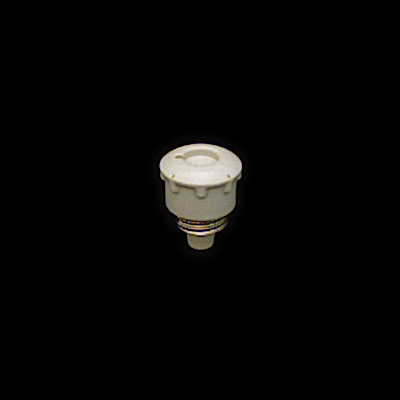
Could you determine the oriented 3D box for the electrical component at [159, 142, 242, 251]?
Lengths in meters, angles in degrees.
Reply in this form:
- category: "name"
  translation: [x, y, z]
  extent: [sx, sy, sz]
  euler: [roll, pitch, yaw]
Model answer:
- category: "electrical component"
  translation: [0.000, 0.000, 0.639]
  extent: [0.048, 0.063, 0.047]
  euler: [1, 32, 0]
